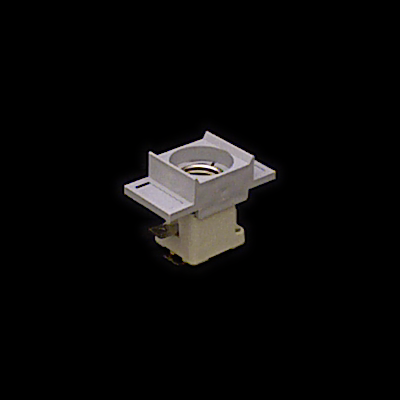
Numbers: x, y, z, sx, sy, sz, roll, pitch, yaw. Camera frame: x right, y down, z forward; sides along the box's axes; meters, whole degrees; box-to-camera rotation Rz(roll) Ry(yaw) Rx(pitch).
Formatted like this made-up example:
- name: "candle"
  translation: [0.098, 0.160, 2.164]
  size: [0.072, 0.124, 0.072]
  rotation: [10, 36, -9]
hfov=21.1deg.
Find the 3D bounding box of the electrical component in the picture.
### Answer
- name: "electrical component"
  translation: [0.000, 0.000, 0.631]
  size: [0.081, 0.064, 0.041]
  rotation: [-22, 39, -34]
